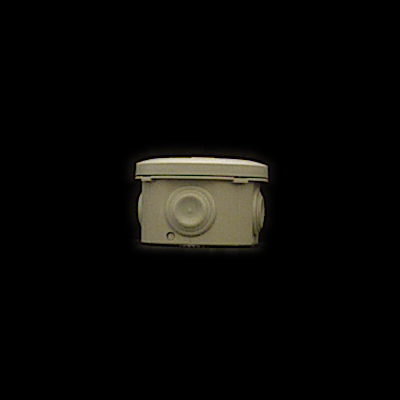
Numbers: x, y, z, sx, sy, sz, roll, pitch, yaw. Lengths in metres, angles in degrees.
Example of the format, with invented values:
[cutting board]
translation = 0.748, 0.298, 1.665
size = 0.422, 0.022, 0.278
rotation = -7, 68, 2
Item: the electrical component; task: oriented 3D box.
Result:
[electrical component]
translation = 0.000, 0.000, 0.649
size = 0.080, 0.051, 0.080
rotation = 1, 0, 0
